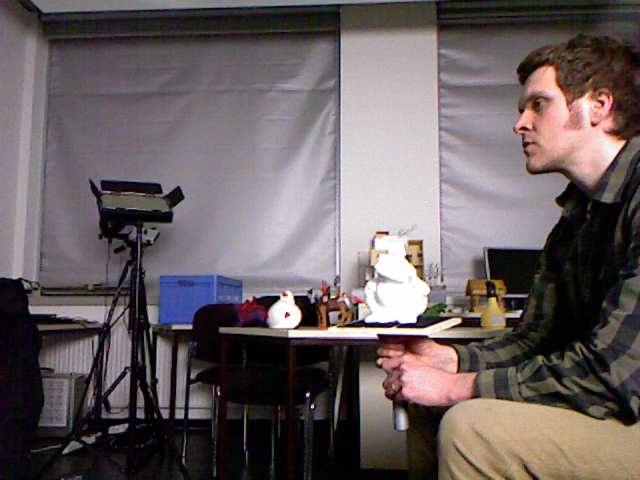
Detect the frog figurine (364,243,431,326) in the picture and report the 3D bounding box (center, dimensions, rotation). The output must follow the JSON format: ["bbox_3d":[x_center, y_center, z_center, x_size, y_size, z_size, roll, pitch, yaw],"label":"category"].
[{"bbox_3d":[0.150,0.086,1.031,0.137,0.160,0.123,-4,-1,44],"label":"frog figurine"}]
